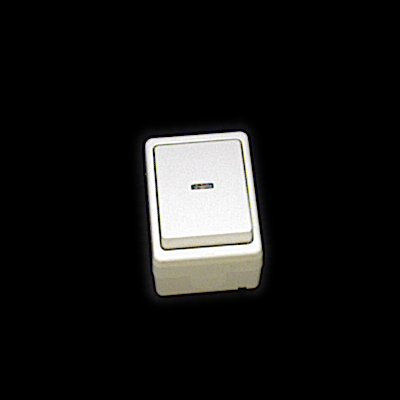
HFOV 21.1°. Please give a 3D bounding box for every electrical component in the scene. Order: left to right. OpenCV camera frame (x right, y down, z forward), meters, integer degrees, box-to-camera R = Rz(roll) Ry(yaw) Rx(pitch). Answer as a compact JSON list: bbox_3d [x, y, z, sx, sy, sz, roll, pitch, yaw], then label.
[{"bbox_3d":[0.000,0.000,0.627,0.062,0.096,0.061,-5,-27,-2],"label":"electrical component"}]
